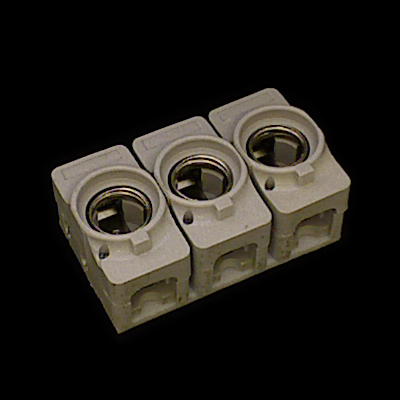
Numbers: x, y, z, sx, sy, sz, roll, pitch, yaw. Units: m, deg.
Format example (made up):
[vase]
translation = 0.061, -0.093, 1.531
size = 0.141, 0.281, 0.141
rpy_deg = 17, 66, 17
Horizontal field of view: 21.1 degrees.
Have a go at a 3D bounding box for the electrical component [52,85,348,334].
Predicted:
[electrical component]
translation = 0.000, 0.000, 0.633
size = 0.150, 0.088, 0.062
rpy_deg = -23, -34, -16
